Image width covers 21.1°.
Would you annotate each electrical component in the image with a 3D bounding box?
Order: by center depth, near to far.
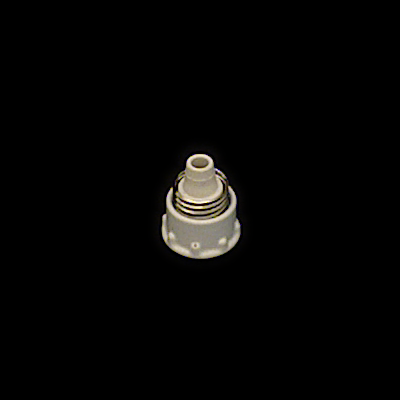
[{"bbox_3d":[0.000,0.000,0.636,0.048,0.062,0.047,0,43,1],"label":"electrical component"}]
